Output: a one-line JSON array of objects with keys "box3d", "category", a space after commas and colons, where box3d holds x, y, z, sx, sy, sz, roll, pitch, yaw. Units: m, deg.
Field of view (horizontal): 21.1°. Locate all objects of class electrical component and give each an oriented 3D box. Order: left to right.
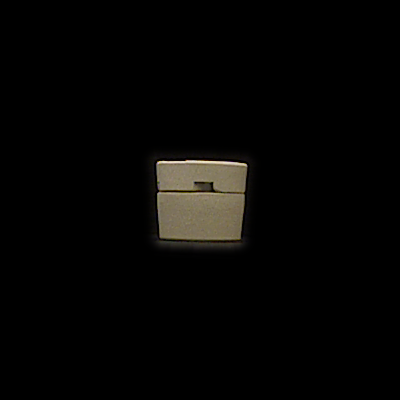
[{"box3d": [0.000, 0.000, 0.652, 0.055, 0.047, 0.055, 1, 1, 0], "category": "electrical component"}]
